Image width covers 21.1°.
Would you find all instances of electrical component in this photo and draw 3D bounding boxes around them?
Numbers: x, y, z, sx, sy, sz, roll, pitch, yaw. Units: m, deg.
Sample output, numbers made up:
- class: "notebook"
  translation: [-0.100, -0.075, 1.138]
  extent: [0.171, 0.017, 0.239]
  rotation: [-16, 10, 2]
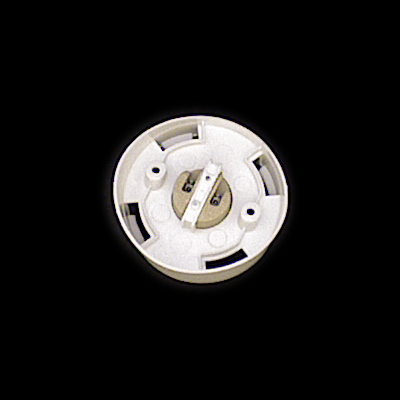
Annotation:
- class: "electrical component"
  translation: [0.000, 0.000, 0.623]
  extent: [0.099, 0.099, 0.064]
  rotation: [0, -16, 0]
